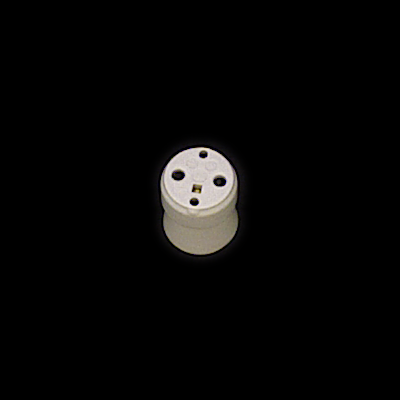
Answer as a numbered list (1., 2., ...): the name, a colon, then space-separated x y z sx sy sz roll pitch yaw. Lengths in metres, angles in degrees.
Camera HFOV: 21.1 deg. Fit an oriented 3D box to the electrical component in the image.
1. electrical component: 0.000 0.000 0.629 0.045 0.045 0.055 0 -27 0
